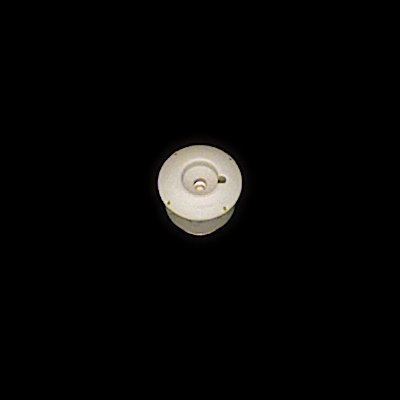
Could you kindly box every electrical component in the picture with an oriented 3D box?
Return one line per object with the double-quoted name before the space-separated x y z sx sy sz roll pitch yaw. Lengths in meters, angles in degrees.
"electrical component" 0.000 0.000 0.635 0.048 0.048 0.062 0 -27 0
